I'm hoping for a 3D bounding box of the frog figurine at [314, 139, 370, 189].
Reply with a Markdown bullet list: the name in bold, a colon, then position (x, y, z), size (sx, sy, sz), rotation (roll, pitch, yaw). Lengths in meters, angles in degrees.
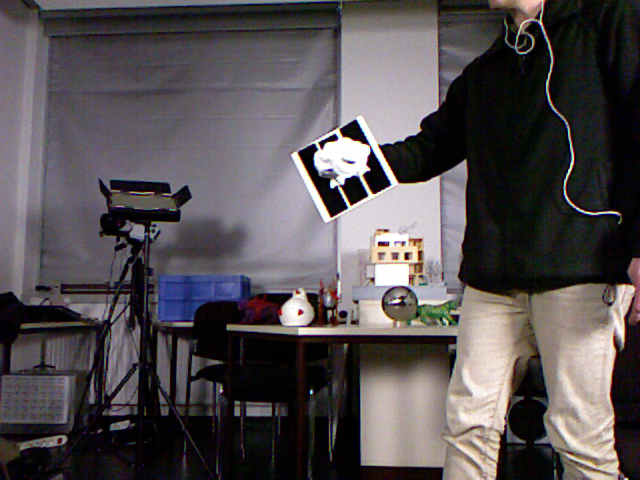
- **frog figurine**: position (0.051, -0.196, 1.227), size (0.137, 0.124, 0.158), rotation (-4, -12, 8)
